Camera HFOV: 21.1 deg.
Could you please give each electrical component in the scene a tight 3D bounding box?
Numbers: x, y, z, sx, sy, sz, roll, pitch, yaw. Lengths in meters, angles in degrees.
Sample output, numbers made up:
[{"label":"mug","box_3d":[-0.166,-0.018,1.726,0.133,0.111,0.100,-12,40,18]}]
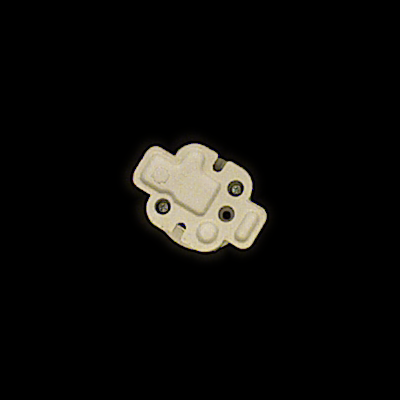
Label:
[{"label":"electrical component","box_3d":[0.000,0.000,0.637,0.078,0.058,0.057,30,-3,5]}]
